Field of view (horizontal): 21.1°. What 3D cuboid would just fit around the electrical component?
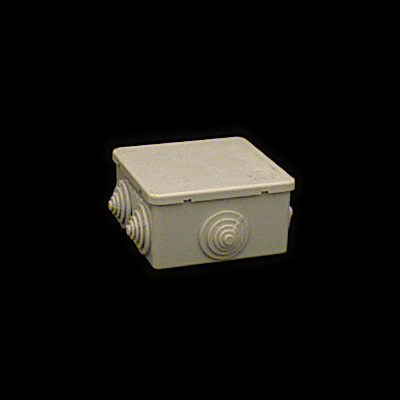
[{"bbox_3d":[0.000,0.000,0.648,0.100,0.049,0.098,-6,23,-18],"label":"electrical component"}]
